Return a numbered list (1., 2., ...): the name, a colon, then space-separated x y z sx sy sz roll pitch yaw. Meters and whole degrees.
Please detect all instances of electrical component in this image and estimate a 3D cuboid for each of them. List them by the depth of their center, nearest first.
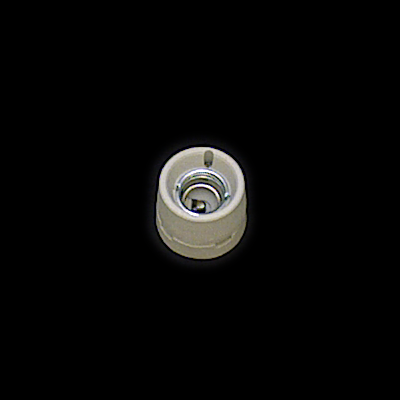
1. electrical component: 0.000 0.000 0.633 0.055 0.055 0.047 0 -28 -1
